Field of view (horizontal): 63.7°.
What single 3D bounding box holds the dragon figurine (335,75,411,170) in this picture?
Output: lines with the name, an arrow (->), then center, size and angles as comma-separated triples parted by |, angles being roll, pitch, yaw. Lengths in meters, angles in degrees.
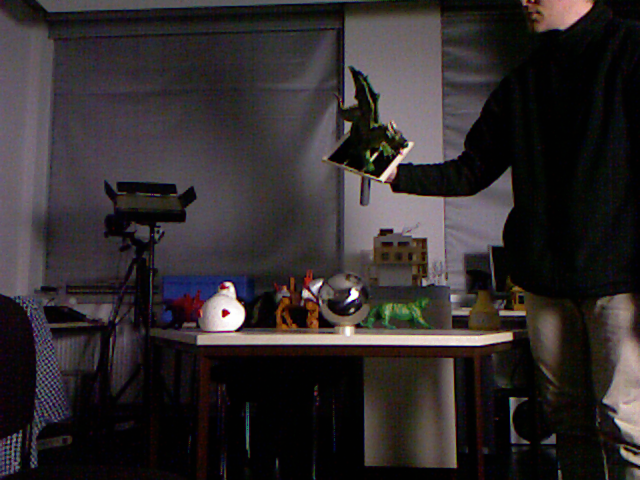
dragon figurine -> 0.126, -0.360, 1.460 | 0.123, 0.419, 0.237 | -24, -37, -14
